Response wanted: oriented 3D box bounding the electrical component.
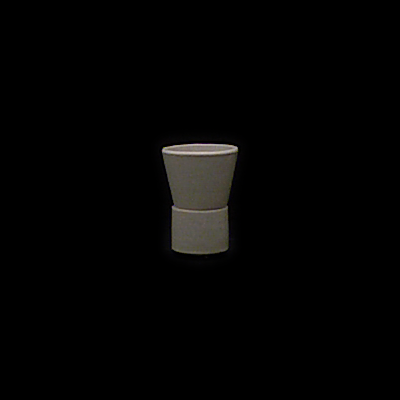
[{"bbox_3d":[0.000,0.000,0.642,0.044,0.066,0.044,0,12,0],"label":"electrical component"}]
